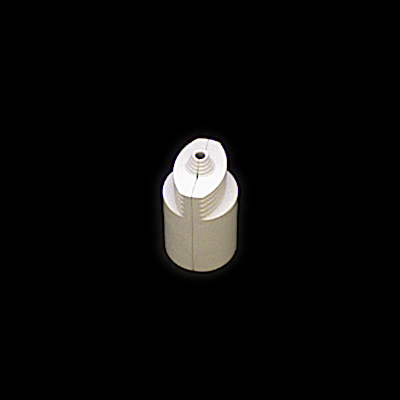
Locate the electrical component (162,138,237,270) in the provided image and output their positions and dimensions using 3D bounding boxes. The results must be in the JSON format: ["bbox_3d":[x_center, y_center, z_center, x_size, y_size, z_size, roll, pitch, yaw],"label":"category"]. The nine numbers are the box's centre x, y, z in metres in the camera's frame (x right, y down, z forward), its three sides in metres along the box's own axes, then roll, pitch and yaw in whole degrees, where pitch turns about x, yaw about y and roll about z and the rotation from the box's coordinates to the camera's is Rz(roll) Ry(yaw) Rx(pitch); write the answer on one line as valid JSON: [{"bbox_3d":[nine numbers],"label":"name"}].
[{"bbox_3d":[0.000,0.000,0.620,0.043,0.043,0.081,0,-38,0],"label":"electrical component"}]
